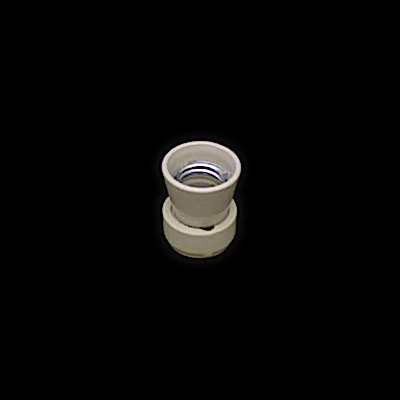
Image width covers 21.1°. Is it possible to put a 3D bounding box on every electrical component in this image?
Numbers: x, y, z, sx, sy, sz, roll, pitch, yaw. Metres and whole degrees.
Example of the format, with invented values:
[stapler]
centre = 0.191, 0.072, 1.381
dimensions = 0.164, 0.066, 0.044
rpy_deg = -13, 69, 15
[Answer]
[electrical component]
centre = 0.000, 0.000, 0.633
dimensions = 0.045, 0.056, 0.044
rpy_deg = 1, 42, -1
